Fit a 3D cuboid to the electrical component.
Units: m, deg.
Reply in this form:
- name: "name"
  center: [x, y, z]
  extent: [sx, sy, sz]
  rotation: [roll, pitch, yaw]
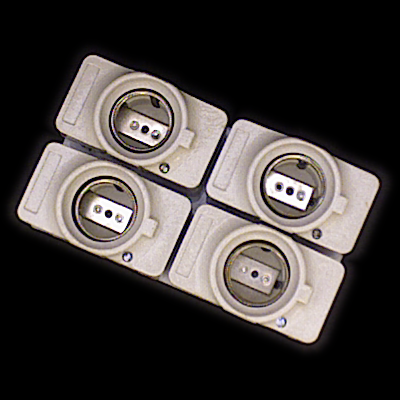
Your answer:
- name: "electrical component"
  center: [0.000, 0.000, 0.627]
  extent: [0.186, 0.106, 0.060]
  rotation: [23, -6, 2]
